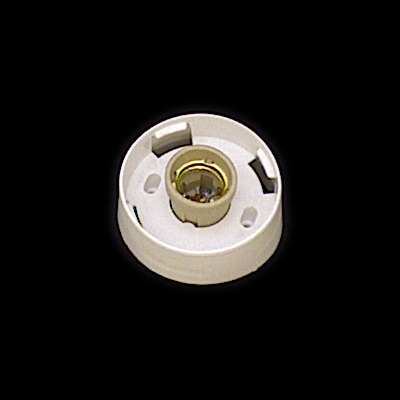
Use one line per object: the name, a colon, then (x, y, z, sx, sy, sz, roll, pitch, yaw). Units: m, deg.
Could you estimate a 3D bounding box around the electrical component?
electrical component: (0.000, 0.000, 0.625, 0.099, 0.099, 0.064, 0, -28, 0)
